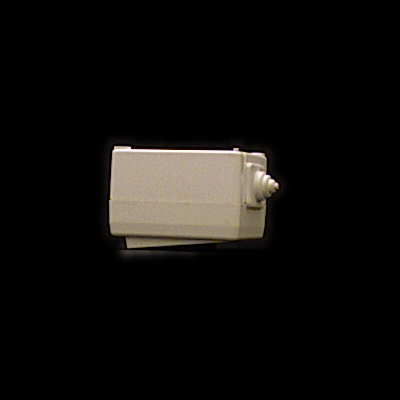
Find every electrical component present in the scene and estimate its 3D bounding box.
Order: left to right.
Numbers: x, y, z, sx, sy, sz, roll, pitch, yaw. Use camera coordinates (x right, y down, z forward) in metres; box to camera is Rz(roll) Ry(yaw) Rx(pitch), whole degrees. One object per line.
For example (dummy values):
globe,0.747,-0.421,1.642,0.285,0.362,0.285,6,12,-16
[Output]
electrical component,0.000,0.000,0.647,0.096,0.061,0.062,2,1,19
